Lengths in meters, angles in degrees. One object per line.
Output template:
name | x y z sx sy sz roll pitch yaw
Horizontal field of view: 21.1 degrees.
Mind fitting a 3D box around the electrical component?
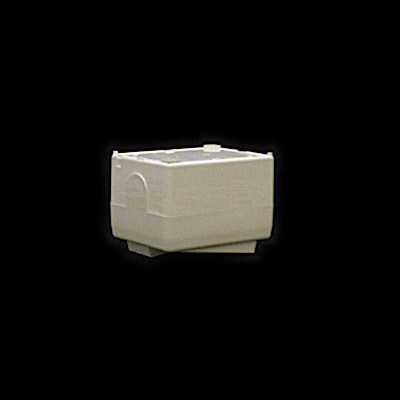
electrical component | 0.000 0.000 0.651 0.096 0.061 0.061 -7 13 -37
